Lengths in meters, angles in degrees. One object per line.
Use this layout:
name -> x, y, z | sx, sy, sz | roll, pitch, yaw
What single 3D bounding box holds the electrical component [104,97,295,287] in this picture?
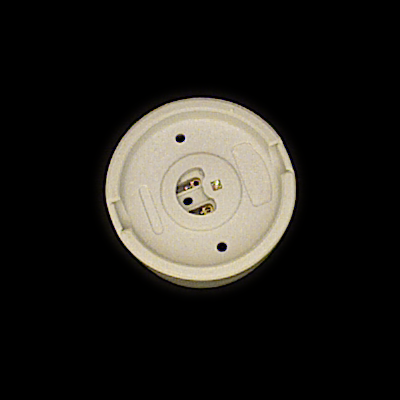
electrical component -> 0.000, 0.000, 0.635 | 0.108, 0.108, 0.060 | 0, -16, 1
